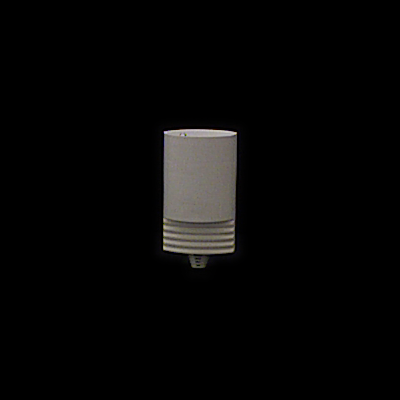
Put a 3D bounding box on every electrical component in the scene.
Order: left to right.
[{"bbox_3d":[0.000,0.000,0.639,0.043,0.081,0.043,1,10,0],"label":"electrical component"}]
